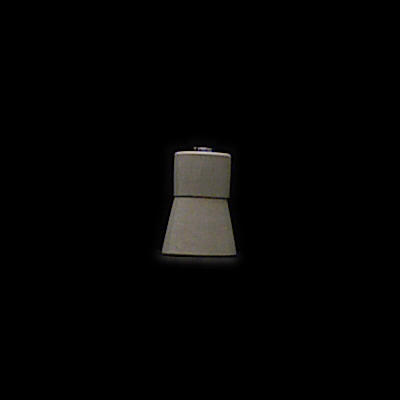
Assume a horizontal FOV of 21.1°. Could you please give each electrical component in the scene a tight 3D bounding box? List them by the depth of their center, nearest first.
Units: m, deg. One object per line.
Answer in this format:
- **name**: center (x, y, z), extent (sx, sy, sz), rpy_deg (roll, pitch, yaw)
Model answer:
- **electrical component**: center (0.000, 0.000, 0.649), extent (0.044, 0.065, 0.044), rpy_deg (2, 1, 0)
